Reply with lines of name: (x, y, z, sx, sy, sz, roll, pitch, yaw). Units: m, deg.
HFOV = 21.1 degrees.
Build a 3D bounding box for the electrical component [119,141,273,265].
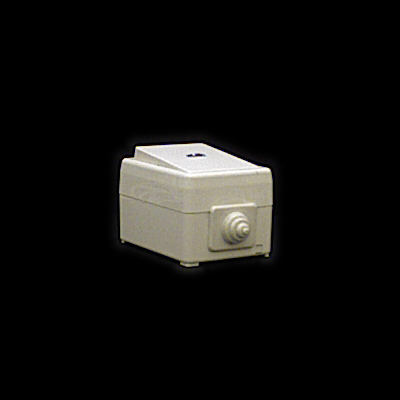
electrical component: (0.000, 0.000, 0.642, 0.061, 0.061, 0.095, -6, 12, -33)
